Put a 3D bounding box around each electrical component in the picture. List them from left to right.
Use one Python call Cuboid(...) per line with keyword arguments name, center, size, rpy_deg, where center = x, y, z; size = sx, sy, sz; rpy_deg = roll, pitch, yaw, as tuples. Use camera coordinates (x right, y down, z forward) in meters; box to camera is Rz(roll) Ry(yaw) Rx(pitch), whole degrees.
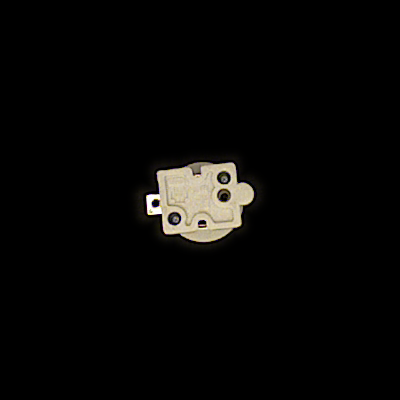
Cuboid(name="electrical component", center=(0.000, 0.000, 0.639), size=(0.066, 0.048, 0.055), rpy_deg=(-6, -4, 1))
